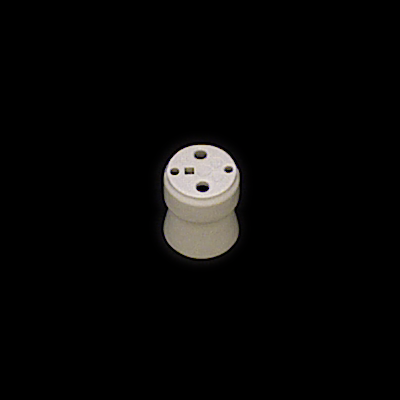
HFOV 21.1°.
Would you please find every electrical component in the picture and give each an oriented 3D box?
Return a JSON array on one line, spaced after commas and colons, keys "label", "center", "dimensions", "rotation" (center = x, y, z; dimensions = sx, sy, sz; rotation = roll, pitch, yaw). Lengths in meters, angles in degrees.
[{"label": "electrical component", "center": [0.000, 0.000, 0.631], "dimensions": [0.045, 0.044, 0.055], "rotation": [0, -38, -1]}]
